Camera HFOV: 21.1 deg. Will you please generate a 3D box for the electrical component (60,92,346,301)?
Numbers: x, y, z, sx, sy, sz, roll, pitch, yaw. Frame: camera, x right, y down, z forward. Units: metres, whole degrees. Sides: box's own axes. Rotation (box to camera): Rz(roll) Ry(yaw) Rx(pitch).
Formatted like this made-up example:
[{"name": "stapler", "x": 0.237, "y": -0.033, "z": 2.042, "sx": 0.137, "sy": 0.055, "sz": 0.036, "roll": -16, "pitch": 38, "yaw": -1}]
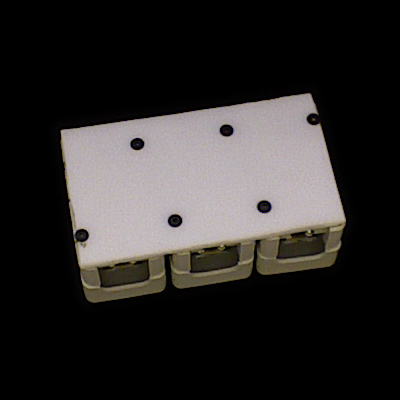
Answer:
[{"name": "electrical component", "x": 0.000, "y": 0.000, "z": 0.632, "sx": 0.150, "sy": 0.089, "sz": 0.062, "roll": -8, "pitch": -27, "yaw": -5}]
